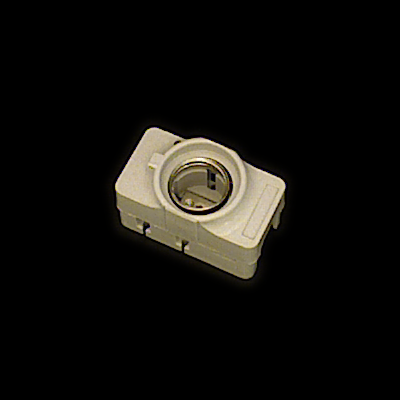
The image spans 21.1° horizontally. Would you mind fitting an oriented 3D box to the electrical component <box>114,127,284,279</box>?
[{"bbox_3d":[0.000,0.000,0.636,0.089,0.050,0.055,23,-24,11],"label":"electrical component"}]
